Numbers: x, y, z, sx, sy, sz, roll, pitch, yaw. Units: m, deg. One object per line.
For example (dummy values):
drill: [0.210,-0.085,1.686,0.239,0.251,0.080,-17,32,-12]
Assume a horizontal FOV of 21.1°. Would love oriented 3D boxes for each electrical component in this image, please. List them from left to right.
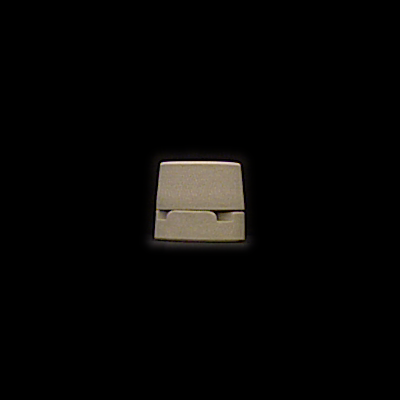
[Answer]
electrical component: [0.000,0.000,0.651,0.055,0.047,0.055,1,0,0]
